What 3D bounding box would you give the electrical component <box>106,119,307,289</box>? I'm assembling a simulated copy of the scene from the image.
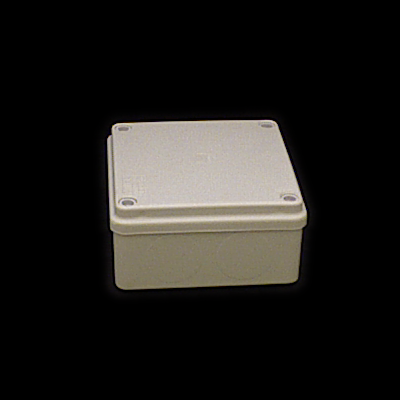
[{"bbox_3d":[0.000,0.000,0.637,0.109,0.057,0.107,-1,31,-5],"label":"electrical component"}]
